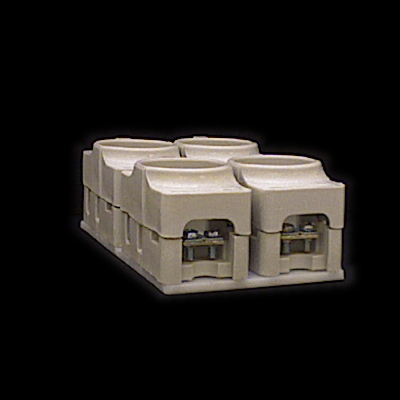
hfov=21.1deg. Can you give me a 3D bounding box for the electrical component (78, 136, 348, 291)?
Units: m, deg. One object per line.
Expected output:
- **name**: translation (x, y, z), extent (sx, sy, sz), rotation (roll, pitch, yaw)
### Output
- **electrical component**: translation (0.000, 0.000, 0.643), extent (0.106, 0.060, 0.184), rotation (-3, 10, -20)
